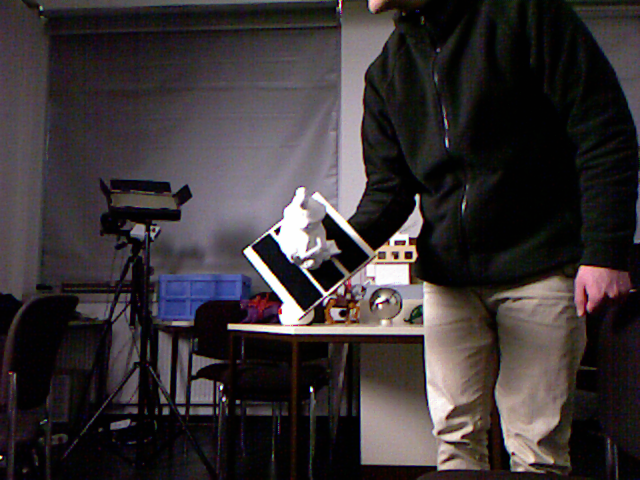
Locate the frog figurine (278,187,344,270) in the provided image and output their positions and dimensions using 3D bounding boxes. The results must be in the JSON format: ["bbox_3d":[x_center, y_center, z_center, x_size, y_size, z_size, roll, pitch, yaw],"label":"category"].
[{"bbox_3d":[-0.032,-0.020,0.989,0.122,0.140,0.157,-21,-29,7],"label":"frog figurine"}]
